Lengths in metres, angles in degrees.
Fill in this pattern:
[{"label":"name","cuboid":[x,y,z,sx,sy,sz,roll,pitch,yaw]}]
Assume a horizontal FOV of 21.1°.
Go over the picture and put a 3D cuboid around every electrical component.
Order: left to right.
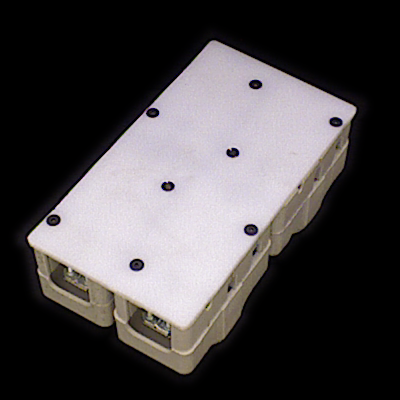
[{"label":"electrical component","cuboid":[0.000,0.000,0.627,0.105,0.186,0.060,28,-33,19]}]
